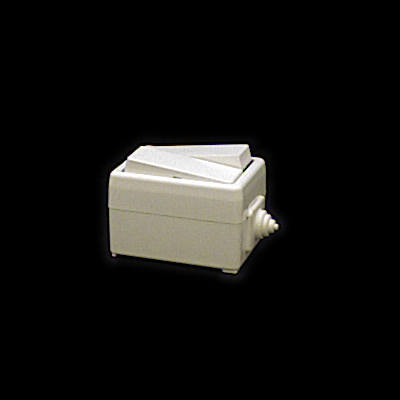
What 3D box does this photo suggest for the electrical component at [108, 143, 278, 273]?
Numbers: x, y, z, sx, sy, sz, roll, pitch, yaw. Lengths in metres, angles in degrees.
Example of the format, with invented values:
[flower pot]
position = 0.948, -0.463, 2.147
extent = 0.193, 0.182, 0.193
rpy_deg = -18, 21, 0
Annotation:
[electrical component]
position = 0.000, 0.000, 0.638
extent = 0.096, 0.061, 0.061
rpy_deg = 7, 22, 16
